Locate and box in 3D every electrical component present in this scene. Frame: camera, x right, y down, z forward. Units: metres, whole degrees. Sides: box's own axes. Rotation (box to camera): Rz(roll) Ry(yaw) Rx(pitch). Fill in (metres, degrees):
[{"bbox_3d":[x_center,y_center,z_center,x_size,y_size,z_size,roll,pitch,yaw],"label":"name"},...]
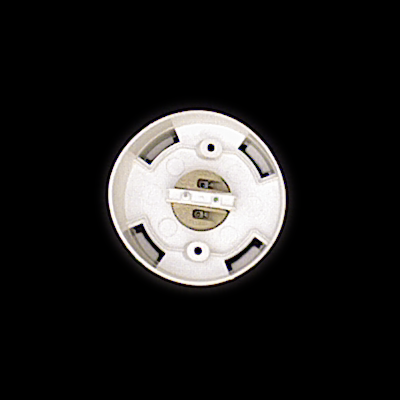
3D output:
[{"bbox_3d":[0.000,0.000,0.624,0.099,0.099,0.064,0,-6,1],"label":"electrical component"}]
